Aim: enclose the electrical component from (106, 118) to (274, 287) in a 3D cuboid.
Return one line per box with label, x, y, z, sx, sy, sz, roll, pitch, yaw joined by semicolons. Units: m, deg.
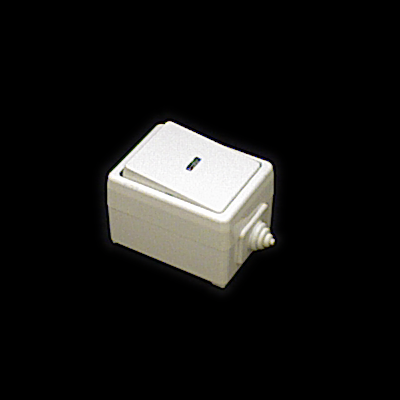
electrical component;0.000;0.000;0.629;0.096;0.061;0.061;21;46;21
